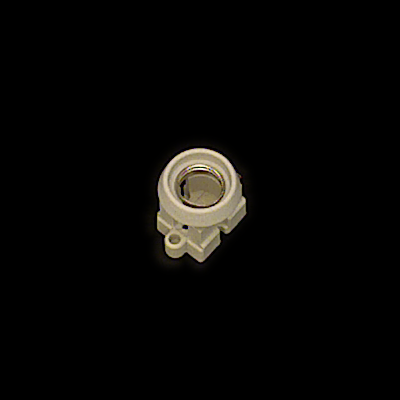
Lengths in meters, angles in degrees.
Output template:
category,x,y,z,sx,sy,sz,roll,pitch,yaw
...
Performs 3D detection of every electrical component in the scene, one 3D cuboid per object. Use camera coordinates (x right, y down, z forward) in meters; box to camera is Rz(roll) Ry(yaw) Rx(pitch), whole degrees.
category,x,y,z,sx,sy,sz,roll,pitch,yaw
electrical component,0.000,0.000,0.637,0.048,0.067,0.055,36,-21,15
